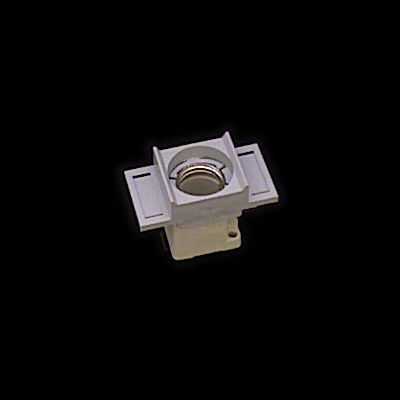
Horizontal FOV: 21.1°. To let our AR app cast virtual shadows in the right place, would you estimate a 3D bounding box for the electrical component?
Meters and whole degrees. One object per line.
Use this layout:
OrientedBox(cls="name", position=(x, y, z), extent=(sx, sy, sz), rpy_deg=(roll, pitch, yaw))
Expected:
OrientedBox(cls="electrical component", position=(0.000, 0.000, 0.627), extent=(0.081, 0.042, 0.064), rpy_deg=(-12, -38, -9))
